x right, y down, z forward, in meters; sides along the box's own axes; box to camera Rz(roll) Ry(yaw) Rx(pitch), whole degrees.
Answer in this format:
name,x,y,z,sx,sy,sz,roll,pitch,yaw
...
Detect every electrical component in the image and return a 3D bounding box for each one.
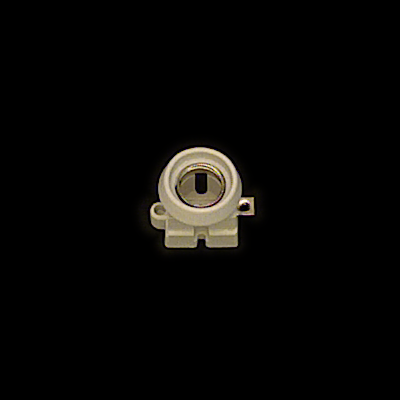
name,x,y,z,sx,sy,sz,roll,pitch,yaw
electrical component,0.000,0.000,0.638,0.066,0.048,0.055,-1,-25,-1
